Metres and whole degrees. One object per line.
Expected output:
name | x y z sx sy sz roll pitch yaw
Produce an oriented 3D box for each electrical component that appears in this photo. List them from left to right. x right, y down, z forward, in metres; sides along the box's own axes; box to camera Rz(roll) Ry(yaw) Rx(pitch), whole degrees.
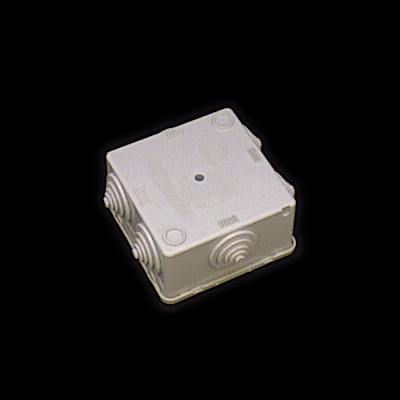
electrical component | 0.000 0.000 0.632 0.100 0.099 0.049 -22 -34 -16
